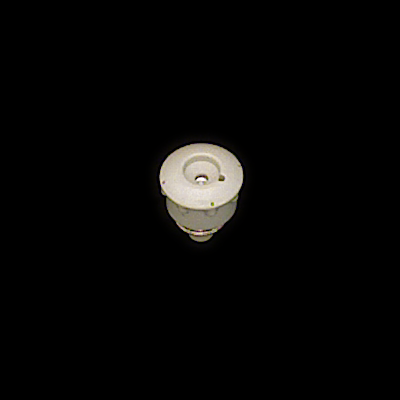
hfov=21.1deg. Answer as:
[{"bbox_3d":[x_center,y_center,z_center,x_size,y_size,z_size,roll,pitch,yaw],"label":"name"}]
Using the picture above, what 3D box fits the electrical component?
[{"bbox_3d":[0.000,0.000,0.636,0.048,0.048,0.062,0,-37,0],"label":"electrical component"}]
